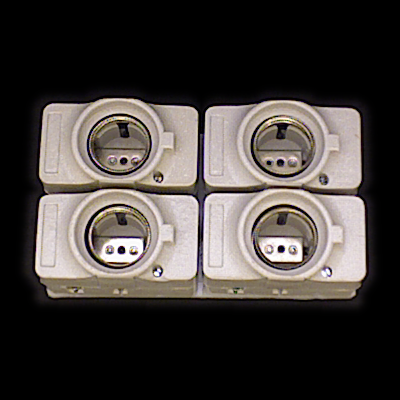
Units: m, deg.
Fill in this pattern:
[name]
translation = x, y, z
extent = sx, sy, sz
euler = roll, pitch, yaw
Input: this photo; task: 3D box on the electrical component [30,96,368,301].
[electrical component]
translation = 0.000, 0.000, 0.626
extent = 0.186, 0.106, 0.060
euler = 1, -17, 0
